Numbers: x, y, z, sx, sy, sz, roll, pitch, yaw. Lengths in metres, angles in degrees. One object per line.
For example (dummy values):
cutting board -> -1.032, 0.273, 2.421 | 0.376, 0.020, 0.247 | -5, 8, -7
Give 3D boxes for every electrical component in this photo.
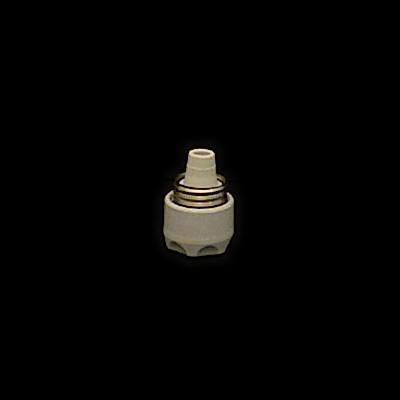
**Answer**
electrical component -> 0.000, 0.000, 0.646 | 0.043, 0.063, 0.043 | 2, 22, 0
